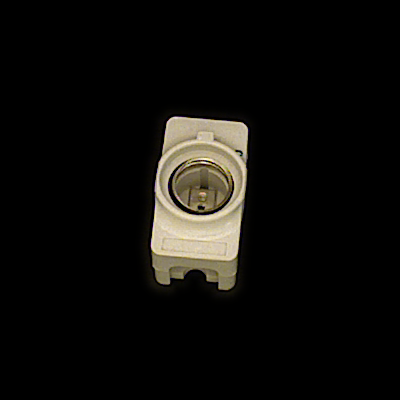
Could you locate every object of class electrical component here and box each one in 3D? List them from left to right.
[{"bbox_3d":[0.000,0.000,0.636,0.050,0.090,0.055,4,-26,2],"label":"electrical component"}]
